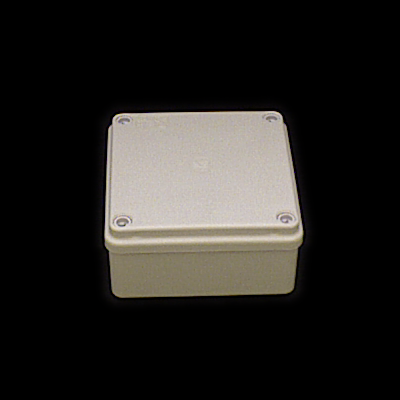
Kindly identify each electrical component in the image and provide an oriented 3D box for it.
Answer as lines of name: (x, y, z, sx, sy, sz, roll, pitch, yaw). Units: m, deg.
electrical component: (0.000, 0.000, 0.631, 0.109, 0.056, 0.107, -1, 43, -2)
